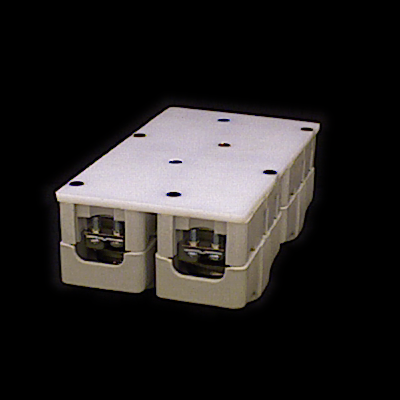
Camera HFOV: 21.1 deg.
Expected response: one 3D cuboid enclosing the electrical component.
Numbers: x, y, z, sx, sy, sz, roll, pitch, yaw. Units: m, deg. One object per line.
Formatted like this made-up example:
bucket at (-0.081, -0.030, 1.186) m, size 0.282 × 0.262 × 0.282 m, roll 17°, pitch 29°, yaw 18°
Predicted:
electrical component at (0.000, 0.000, 0.638) m, size 0.105 × 0.061 × 0.184 m, roll 7°, pitch 21°, yaw 16°
